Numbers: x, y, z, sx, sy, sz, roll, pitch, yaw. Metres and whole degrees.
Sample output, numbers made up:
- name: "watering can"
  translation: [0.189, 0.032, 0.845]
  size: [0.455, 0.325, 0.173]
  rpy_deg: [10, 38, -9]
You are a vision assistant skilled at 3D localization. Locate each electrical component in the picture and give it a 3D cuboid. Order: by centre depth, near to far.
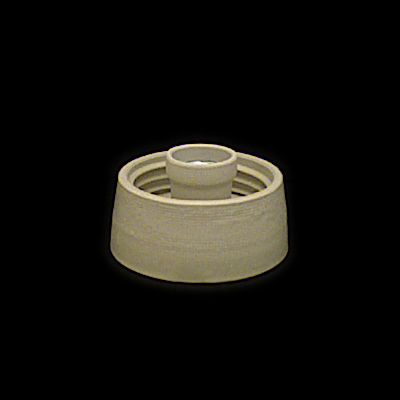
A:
- name: "electrical component"
  translation: [0.000, 0.000, 0.644]
  size: [0.108, 0.061, 0.106]
  rpy_deg: [1, 21, 0]
